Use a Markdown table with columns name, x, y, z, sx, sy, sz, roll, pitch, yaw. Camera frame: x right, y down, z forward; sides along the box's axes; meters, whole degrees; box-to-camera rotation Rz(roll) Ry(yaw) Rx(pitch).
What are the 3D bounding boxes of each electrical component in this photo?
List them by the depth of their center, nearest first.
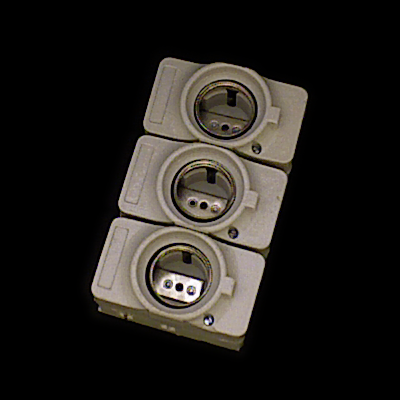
| name | x | y | z | sx | sy | sz | roll | pitch | yaw |
| --- | --- | --- | --- | --- | --- | --- | --- | --- | --- |
| electrical component | 0.000 | 0.000 | 0.631 | 0.089 | 0.150 | 0.062 | 15 | -16 | 4 |
